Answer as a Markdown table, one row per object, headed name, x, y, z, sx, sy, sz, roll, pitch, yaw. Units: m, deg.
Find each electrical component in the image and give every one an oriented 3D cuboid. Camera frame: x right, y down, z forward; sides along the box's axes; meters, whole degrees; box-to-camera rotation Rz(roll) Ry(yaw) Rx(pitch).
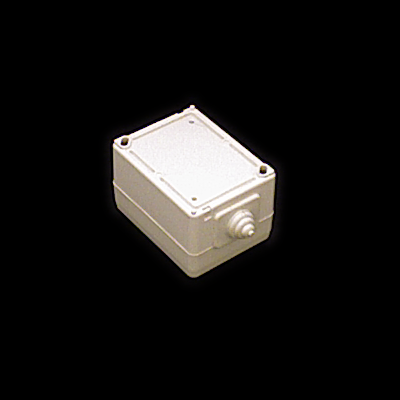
| name | x | y | z | sx | sy | sz | roll | pitch | yaw |
| --- | --- | --- | --- | --- | --- | --- | --- | --- | --- |
| electrical component | 0.000 | 0.000 | 0.629 | 0.062 | 0.061 | 0.095 | -27 | 50 | -27 |
